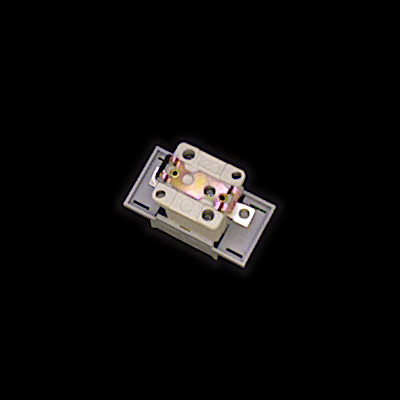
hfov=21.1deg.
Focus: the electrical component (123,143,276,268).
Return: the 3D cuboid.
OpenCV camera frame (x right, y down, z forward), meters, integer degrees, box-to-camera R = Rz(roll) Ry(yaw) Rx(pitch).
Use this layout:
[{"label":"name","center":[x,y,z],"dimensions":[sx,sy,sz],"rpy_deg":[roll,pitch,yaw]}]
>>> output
[{"label":"electrical component","center":[0.000,0.000,0.625],"dimensions":[0.081,0.042,0.063],"rpy_deg":[27,-15,7]}]
